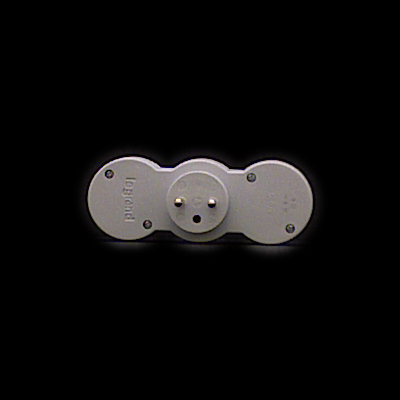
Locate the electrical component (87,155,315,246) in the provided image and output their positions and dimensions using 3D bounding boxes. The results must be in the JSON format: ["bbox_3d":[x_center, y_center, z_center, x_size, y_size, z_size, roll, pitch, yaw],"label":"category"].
[{"bbox_3d":[0.000,0.000,0.650,0.138,0.052,0.073,2,2,4],"label":"electrical component"}]
